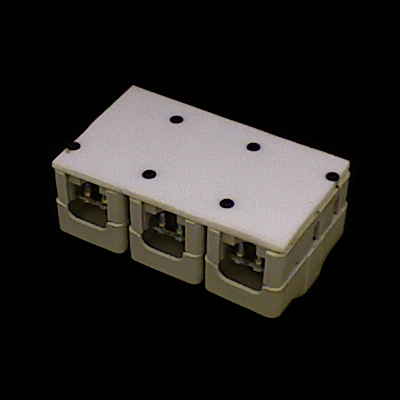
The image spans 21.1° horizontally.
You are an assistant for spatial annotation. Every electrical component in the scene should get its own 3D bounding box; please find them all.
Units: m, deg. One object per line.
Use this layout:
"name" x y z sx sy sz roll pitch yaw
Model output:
"electrical component" 0.000 0.000 0.637 0.149 0.063 0.088 22 46 21
